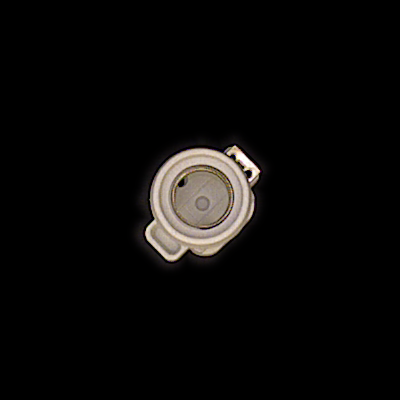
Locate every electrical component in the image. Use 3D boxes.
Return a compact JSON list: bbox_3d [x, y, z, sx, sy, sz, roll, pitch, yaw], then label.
[{"bbox_3d":[0.000,0.000,0.630,0.078,0.058,0.056,-45,-5,-4],"label":"electrical component"}]
